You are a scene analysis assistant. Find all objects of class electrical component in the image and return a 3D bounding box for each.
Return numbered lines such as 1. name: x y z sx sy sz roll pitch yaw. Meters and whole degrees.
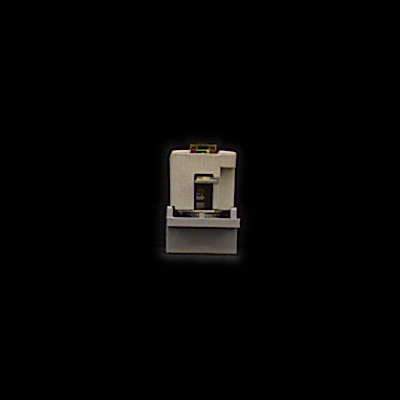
1. electrical component: 0.000 0.000 0.650 0.042 0.064 0.081 1 1 -4
